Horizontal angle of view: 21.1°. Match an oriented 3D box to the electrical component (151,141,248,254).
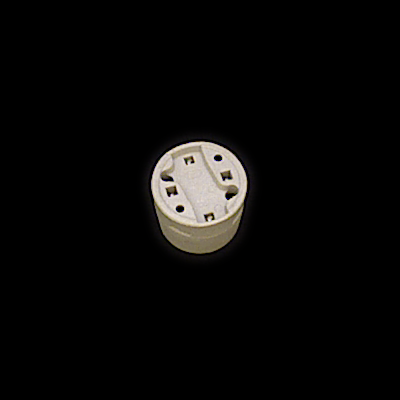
[{"bbox_3d":[0.000,0.000,0.634,0.055,0.056,0.047,0,-27,0],"label":"electrical component"}]
